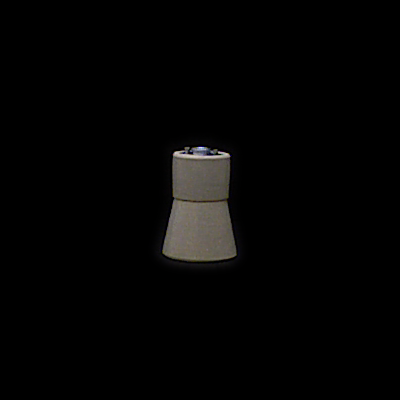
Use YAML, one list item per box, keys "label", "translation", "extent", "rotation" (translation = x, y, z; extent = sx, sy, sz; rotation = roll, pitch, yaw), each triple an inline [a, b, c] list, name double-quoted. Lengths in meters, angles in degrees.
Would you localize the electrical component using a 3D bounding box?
- label: "electrical component"
  translation: [0.000, 0.000, 0.645]
  extent: [0.044, 0.066, 0.044]
  rotation: [2, 10, 0]
